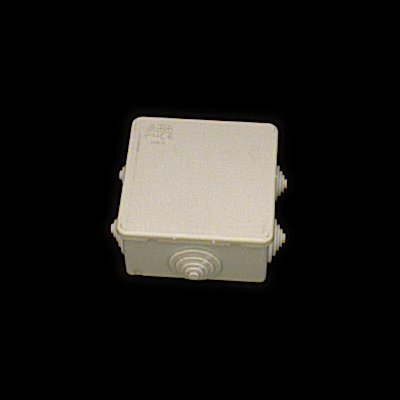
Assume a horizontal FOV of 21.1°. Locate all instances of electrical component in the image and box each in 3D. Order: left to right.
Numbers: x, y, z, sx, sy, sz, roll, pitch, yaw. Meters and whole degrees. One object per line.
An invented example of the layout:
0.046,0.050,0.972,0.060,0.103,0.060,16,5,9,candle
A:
0.000,0.000,0.640,0.099,0.099,0.049,4,-37,2,electrical component
